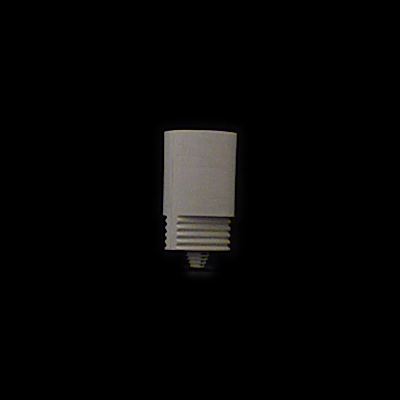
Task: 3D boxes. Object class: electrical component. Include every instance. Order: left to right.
[{"bbox_3d":[0.000,0.000,0.647,0.043,0.081,0.043,0,1,0],"label":"electrical component"}]
